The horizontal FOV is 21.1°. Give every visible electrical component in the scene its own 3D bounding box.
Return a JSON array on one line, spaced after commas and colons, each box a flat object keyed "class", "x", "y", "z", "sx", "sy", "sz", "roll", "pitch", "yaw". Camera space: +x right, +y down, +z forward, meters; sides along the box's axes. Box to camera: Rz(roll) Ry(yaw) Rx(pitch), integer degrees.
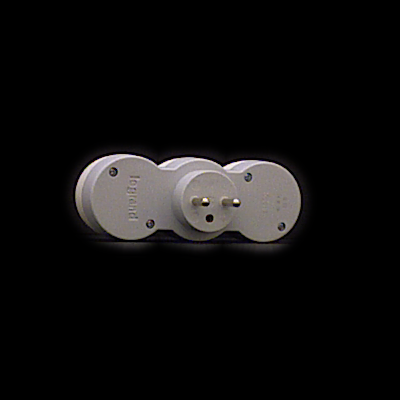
[{"class": "electrical component", "x": 0.000, "y": 0.000, "z": 0.651, "sx": 0.138, "sy": 0.052, "sz": 0.073, "roll": 2, "pitch": 2, "yaw": -21}]
